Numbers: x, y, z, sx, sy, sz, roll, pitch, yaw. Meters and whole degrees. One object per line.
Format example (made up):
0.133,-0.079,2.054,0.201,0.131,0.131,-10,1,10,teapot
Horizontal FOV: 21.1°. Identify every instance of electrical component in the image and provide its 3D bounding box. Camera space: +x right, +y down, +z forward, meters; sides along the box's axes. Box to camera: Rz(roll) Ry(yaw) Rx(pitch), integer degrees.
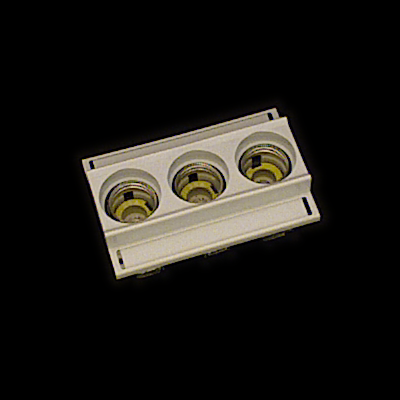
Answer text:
0.000,0.000,0.638,0.122,0.078,0.063,-16,-27,-8,electrical component
